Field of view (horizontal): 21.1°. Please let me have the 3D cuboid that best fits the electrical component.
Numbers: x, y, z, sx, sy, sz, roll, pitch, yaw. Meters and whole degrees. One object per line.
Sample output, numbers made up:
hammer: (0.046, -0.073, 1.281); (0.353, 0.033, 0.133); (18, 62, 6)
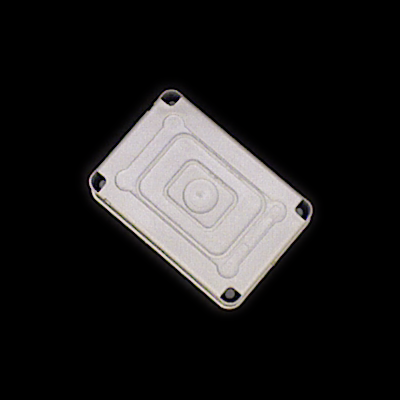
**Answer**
electrical component: (0.000, 0.000, 0.629); (0.113, 0.078, 0.057); (41, -5, 4)
